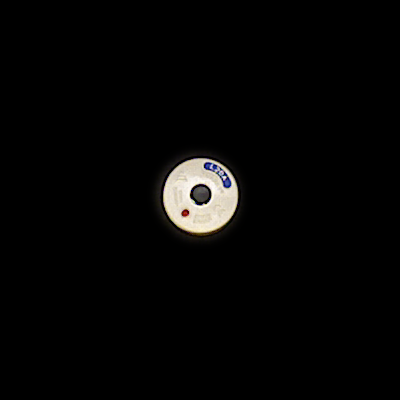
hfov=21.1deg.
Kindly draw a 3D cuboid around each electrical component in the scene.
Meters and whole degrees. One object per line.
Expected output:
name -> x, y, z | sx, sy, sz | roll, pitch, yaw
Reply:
electrical component -> 0.000, 0.000, 0.617 | 0.040, 0.040, 0.078 | 0, -5, 1
